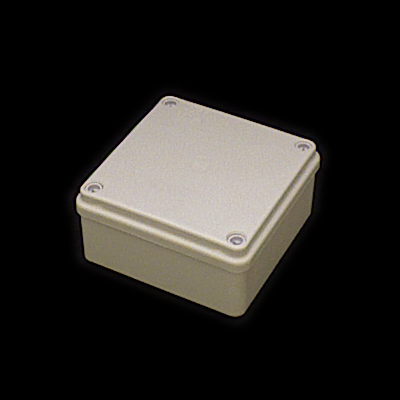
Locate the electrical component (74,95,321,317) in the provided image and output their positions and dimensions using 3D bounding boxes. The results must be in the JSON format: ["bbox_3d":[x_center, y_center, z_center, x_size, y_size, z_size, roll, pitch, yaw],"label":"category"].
[{"bbox_3d":[0.000,0.000,0.631,0.108,0.056,0.108,20,46,19],"label":"electrical component"}]
